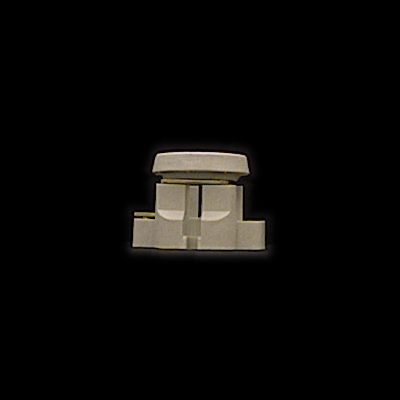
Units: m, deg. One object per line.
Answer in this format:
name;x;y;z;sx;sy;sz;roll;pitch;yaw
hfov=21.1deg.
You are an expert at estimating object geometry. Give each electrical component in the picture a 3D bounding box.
electrical component;0.000;0.000;0.649;0.078;0.057;0.058;1;1;9
